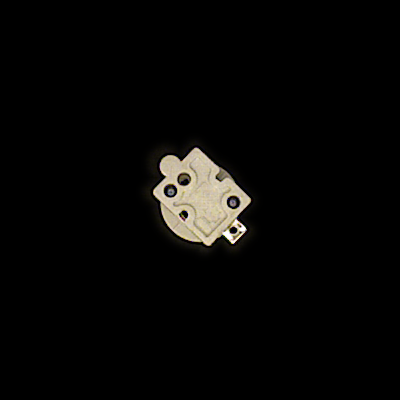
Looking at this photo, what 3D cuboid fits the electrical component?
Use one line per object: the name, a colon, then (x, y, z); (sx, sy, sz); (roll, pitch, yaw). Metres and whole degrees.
electrical component: (0.000, 0.000, 0.639); (0.066, 0.048, 0.055); (44, -4, 3)
